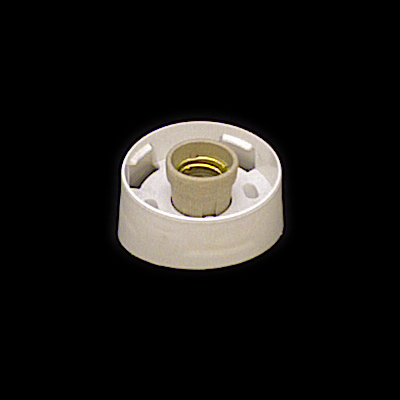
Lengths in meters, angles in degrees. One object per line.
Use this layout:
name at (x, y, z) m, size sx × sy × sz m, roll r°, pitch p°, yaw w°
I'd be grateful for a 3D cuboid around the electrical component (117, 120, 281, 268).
electrical component at (0.000, 0.000, 0.629) m, size 0.099 × 0.064 × 0.098 m, roll 0°, pitch 41°, yaw 0°
